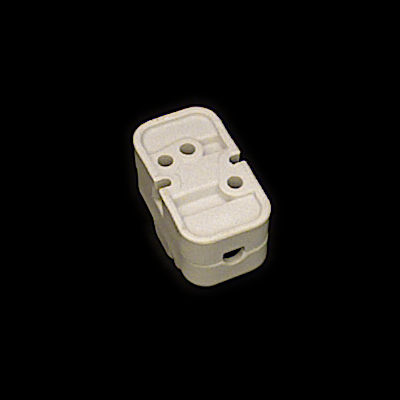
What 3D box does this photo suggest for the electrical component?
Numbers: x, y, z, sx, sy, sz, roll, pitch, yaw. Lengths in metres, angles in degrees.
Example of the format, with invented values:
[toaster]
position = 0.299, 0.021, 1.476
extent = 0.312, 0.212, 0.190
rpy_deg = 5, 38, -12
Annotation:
[electrical component]
position = 0.000, 0.000, 0.634
extent = 0.054, 0.094, 0.059
rpy_deg = -20, -34, -14
